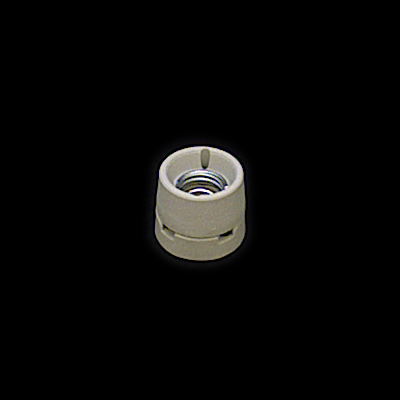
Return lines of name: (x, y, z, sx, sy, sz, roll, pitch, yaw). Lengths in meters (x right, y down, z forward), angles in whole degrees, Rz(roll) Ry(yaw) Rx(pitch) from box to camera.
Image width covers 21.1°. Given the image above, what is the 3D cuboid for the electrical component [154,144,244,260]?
electrical component: (0.000, 0.000, 0.637, 0.055, 0.047, 0.055, 1, 41, -1)
